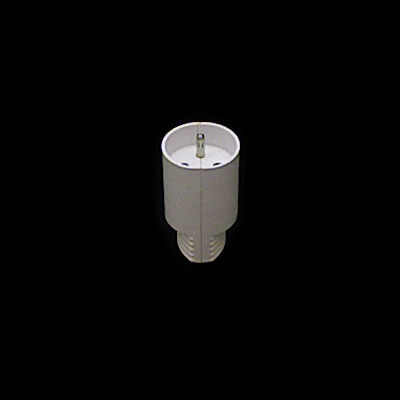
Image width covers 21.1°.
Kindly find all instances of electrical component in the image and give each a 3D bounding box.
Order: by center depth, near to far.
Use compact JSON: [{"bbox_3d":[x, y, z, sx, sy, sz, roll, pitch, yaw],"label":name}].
[{"bbox_3d":[0.000,0.000,0.624,0.043,0.082,0.042,1,41,0],"label":"electrical component"}]
